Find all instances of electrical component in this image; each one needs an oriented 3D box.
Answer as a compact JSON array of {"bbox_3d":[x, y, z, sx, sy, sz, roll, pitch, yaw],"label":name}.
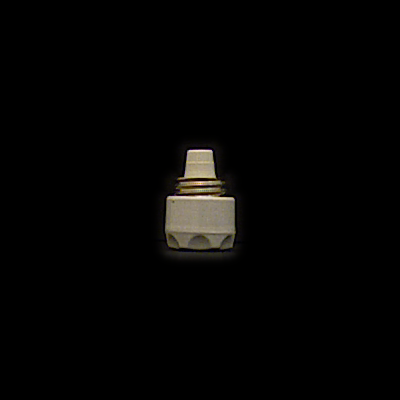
[{"bbox_3d":[0.000,0.000,0.656,0.043,0.062,0.043,0,2,1],"label":"electrical component"}]
